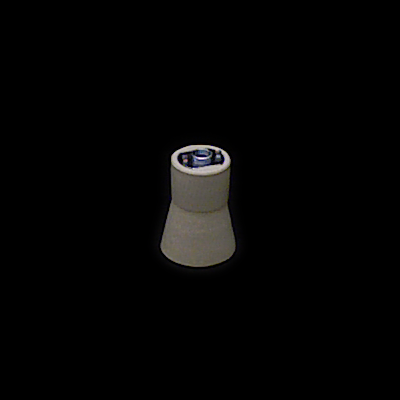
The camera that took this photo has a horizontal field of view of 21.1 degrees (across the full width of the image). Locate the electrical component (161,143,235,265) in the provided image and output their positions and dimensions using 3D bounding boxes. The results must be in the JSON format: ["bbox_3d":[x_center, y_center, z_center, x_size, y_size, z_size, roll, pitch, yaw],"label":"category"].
[{"bbox_3d":[0.000,0.000,0.631,0.044,0.066,0.044,1,32,-1],"label":"electrical component"}]
